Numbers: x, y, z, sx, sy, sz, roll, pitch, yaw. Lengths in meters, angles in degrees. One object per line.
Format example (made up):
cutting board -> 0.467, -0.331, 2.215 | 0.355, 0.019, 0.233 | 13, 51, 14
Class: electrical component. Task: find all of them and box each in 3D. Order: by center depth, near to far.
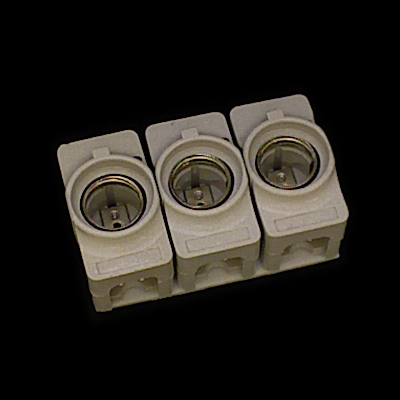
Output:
electrical component -> 0.000, 0.000, 0.632 | 0.150, 0.089, 0.062 | -13, -27, -7
